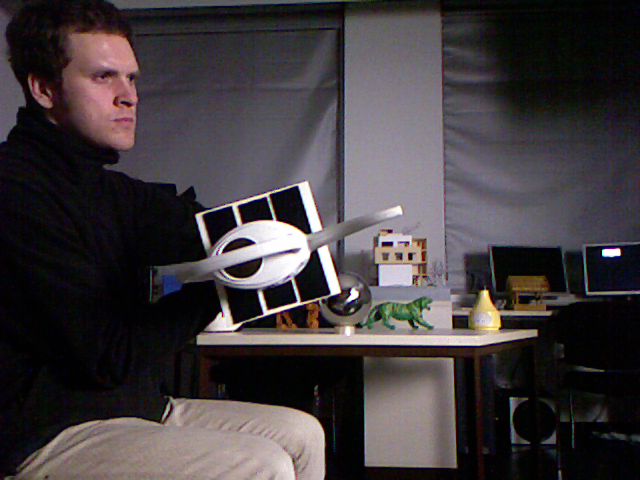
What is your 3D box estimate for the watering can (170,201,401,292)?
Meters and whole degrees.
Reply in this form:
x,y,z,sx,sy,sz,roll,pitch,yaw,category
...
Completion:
x,y,z,sx,sy,sz,roll,pitch,yaw,category
-0.050,0.013,0.794,0.349,0.105,0.225,-16,-3,3,watering can
